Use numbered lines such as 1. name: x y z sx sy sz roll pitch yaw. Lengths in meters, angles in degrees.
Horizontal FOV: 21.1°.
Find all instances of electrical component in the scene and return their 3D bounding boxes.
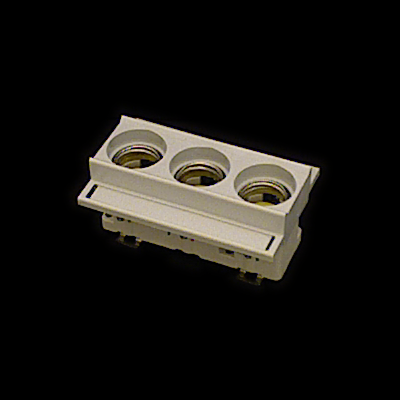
1. electrical component: 0.000 0.000 0.641 0.121 0.063 0.078 17 46 17
